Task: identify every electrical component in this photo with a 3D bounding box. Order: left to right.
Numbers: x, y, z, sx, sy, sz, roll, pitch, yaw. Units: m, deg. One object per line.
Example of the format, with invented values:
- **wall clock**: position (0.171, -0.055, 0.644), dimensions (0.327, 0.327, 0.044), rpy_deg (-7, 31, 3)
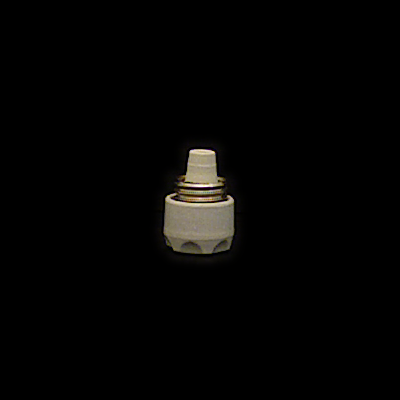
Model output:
- **electrical component**: position (0.000, 0.000, 0.651), dimensions (0.043, 0.062, 0.043), rpy_deg (2, 12, 0)
